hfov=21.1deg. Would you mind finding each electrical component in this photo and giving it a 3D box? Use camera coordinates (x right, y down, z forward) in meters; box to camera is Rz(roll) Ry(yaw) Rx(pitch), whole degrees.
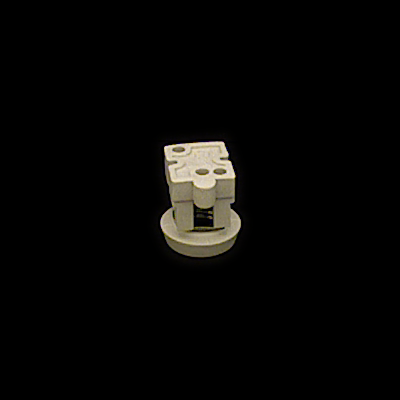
[{"bbox_3d":[0.000,0.000,0.643,0.048,0.056,0.065,-5,32,-6],"label":"electrical component"}]
